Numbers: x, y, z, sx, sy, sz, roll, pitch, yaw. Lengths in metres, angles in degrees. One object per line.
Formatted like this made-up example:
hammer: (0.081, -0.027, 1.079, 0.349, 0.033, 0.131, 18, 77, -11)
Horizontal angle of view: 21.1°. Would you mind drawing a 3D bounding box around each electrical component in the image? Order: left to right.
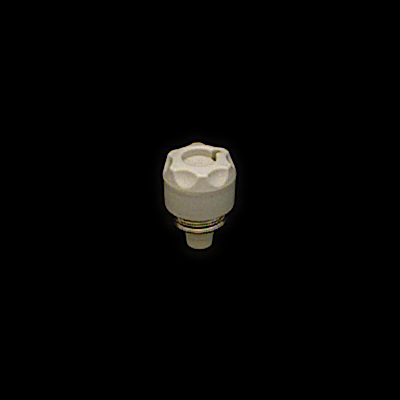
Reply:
electrical component: (0.000, 0.000, 0.641, 0.043, 0.063, 0.043, 0, 33, 0)
